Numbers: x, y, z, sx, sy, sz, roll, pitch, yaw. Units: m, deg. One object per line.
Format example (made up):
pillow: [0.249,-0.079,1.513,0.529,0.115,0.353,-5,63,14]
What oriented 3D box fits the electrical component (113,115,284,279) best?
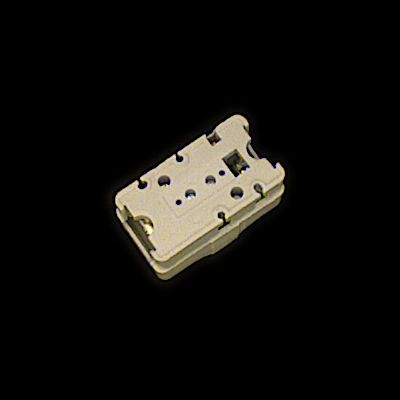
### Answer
electrical component: [0.000,0.000,0.636,0.090,0.050,0.055,-34,-14,-9]
